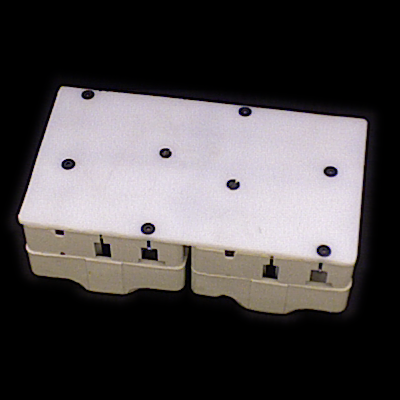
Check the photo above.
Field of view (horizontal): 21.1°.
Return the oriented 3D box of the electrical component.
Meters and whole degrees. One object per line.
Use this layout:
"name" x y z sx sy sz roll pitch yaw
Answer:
"electrical component" 0.000 0.000 0.627 0.186 0.105 0.060 7 -37 4
